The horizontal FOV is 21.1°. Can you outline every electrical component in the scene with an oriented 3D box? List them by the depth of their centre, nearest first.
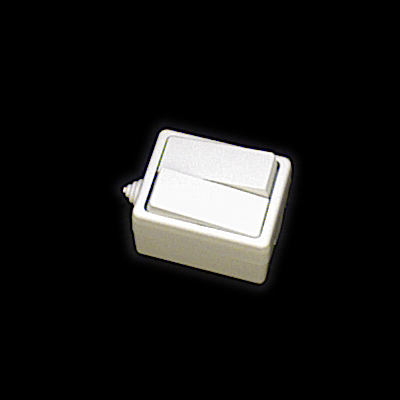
[{"bbox_3d":[0.000,0.000,0.627,0.096,0.062,0.061,14,-27,7],"label":"electrical component"}]
